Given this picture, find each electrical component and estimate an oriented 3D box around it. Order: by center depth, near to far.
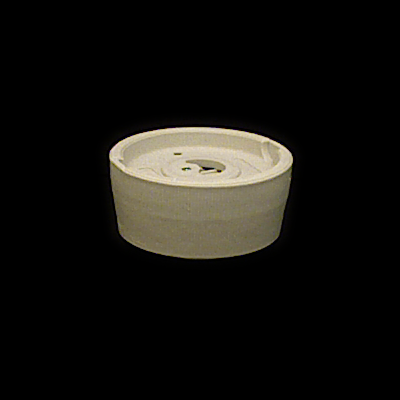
[{"bbox_3d":[0.000,0.000,0.642,0.108,0.061,0.106,2,21,0],"label":"electrical component"}]
